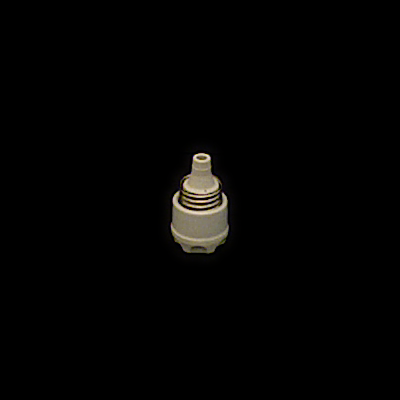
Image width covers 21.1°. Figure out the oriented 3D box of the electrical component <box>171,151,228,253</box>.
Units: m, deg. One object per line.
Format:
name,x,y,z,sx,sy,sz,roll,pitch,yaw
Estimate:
electrical component,0.000,0.000,0.648,0.035,0.062,0.034,2,33,-1
